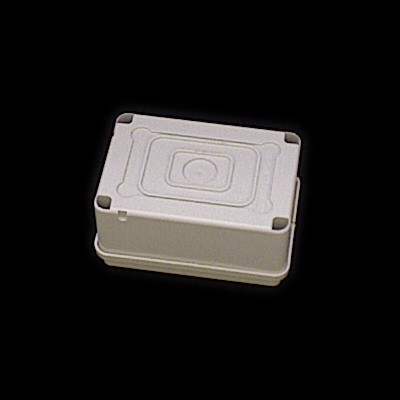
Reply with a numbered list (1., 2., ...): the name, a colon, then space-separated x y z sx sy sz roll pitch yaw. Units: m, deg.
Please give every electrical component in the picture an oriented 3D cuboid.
1. electrical component: 0.000 0.000 0.630 0.113 0.078 0.057 7 -38 4
